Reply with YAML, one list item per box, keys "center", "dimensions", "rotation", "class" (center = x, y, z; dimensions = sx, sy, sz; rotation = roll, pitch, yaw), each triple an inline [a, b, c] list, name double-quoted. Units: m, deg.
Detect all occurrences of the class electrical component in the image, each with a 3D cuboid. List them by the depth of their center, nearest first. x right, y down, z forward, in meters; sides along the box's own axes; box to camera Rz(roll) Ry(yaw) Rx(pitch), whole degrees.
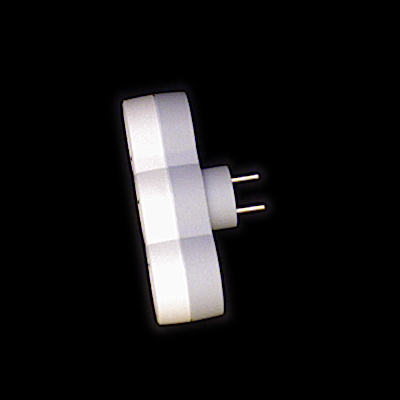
- center: [0.000, 0.000, 0.631]
  dimensions: [0.074, 0.138, 0.052]
  rotation: [-9, -18, -5]
  class: "electrical component"
